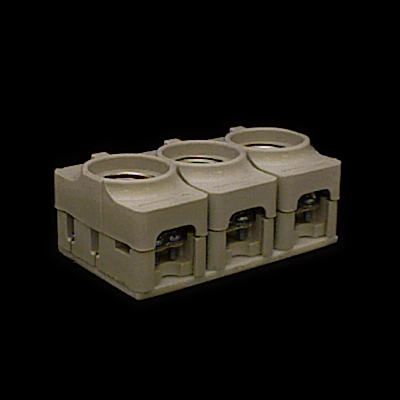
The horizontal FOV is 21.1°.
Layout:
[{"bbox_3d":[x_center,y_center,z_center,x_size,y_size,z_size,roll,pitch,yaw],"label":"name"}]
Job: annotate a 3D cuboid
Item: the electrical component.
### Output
[{"bbox_3d":[0.000,0.000,0.646,0.150,0.063,0.088,-13,24,-36],"label":"electrical component"}]
